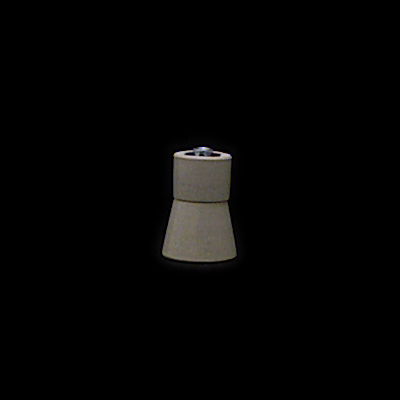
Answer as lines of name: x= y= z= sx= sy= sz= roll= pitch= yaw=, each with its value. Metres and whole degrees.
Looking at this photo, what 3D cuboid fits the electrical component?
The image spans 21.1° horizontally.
electrical component: x=0.000 y=0.000 z=0.643 sx=0.044 sy=0.066 sz=0.044 roll=2 pitch=11 yaw=0
